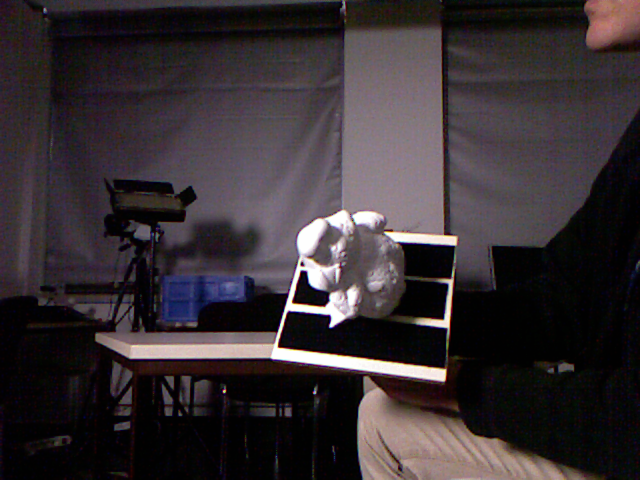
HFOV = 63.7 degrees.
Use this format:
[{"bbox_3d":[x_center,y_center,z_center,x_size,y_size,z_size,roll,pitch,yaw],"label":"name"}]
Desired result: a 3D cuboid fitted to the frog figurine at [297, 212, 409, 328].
[{"bbox_3d":[0.040,0.022,0.587,0.124,0.140,0.156,20,-28,22],"label":"frog figurine"}]
